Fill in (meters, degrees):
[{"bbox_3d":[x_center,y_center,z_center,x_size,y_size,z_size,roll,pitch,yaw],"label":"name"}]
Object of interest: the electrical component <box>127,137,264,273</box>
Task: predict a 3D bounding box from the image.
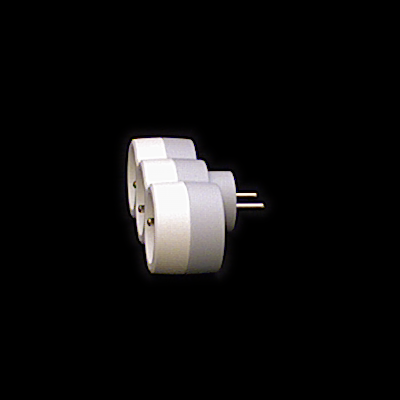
[{"bbox_3d":[0.000,0.000,0.643,0.074,0.053,0.136,-1,20,-11],"label":"electrical component"}]
